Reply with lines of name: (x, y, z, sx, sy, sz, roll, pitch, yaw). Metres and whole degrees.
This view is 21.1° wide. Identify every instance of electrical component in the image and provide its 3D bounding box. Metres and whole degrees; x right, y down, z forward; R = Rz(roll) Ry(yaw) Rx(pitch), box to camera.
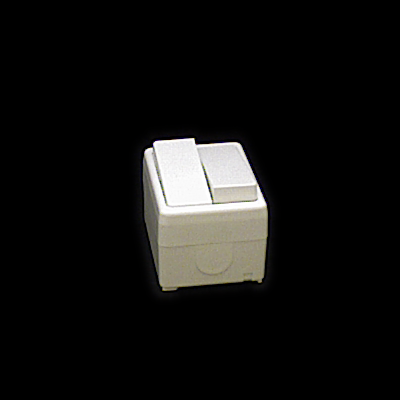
electrical component: (0.000, 0.000, 0.637, 0.062, 0.061, 0.095, -4, 32, -8)
